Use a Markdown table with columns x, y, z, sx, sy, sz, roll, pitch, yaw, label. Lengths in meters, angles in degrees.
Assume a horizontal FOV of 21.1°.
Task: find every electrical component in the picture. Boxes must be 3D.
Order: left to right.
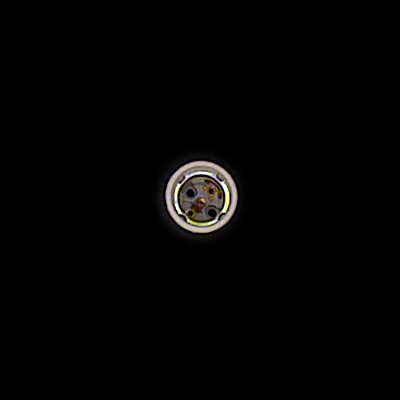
| x | y | z | sx | sy | sz | roll | pitch | yaw | label |
| --- | --- | --- | --- | --- | --- | --- | --- | --- | --- |
| 0.000 | 0.000 | 0.627 | 0.040 | 0.040 | 0.046 | 0 | -6 | 0 | electrical component |
